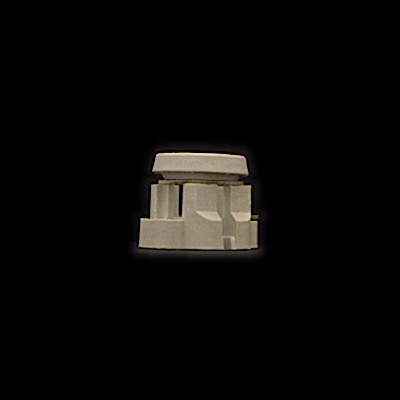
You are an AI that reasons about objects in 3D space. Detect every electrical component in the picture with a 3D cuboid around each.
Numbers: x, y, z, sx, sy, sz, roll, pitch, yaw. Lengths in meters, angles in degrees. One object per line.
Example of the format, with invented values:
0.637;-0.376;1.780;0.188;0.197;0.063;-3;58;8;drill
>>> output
0.000;0.000;0.651;0.079;0.057;0.057;1;1;-40;electrical component
